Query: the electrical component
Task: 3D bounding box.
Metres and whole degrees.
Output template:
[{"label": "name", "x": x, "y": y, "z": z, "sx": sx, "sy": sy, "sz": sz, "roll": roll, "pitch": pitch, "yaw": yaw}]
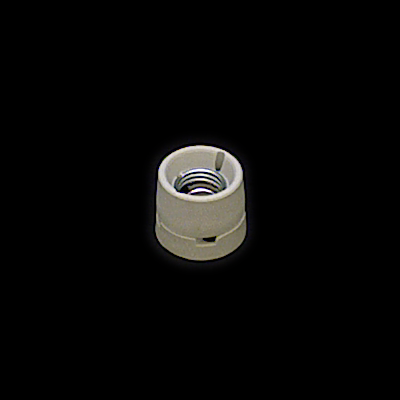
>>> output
[{"label": "electrical component", "x": 0.000, "y": 0.000, "z": 0.635, "sx": 0.055, "sy": 0.047, "sz": 0.055, "roll": 0, "pitch": 43, "yaw": 0}]
